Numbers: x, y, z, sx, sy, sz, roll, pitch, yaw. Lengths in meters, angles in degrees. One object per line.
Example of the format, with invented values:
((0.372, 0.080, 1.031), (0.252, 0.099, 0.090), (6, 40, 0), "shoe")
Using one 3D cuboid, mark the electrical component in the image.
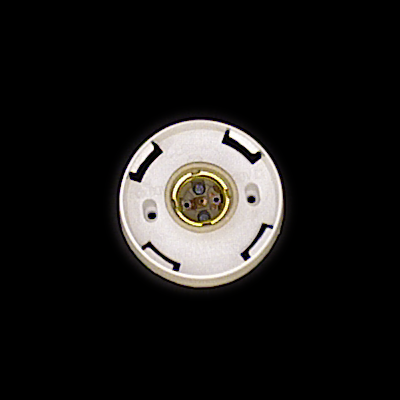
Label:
((0.000, 0.000, 0.625), (0.099, 0.099, 0.064), (0, -7, 0), "electrical component")
